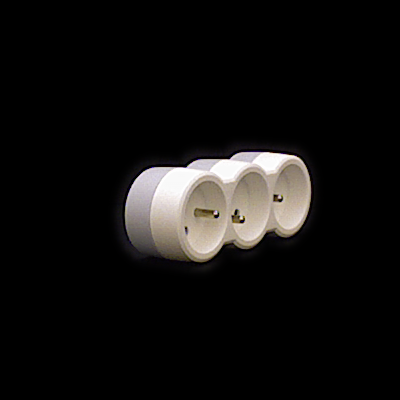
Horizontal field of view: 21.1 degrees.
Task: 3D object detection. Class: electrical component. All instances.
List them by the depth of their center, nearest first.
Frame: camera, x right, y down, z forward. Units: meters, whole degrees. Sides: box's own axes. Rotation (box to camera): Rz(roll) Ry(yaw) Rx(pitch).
[{"bbox_3d":[0.000,0.000,0.642,0.073,0.052,0.138,7,12,36],"label":"electrical component"}]
